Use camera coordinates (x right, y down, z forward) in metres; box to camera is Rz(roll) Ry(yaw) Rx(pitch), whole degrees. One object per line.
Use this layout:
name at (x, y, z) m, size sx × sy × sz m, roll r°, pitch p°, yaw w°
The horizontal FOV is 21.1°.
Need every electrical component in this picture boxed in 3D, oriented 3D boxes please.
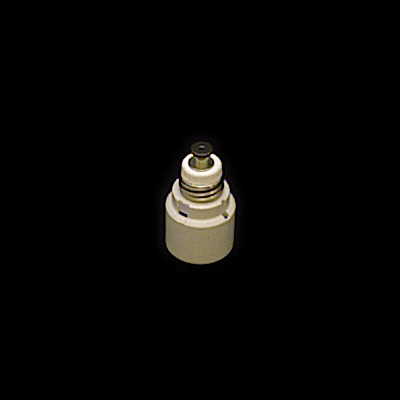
electrical component at (0.000, 0.000, 0.625) m, size 0.040 × 0.079 × 0.039 m, roll 1°, pitch 42°, yaw -1°
